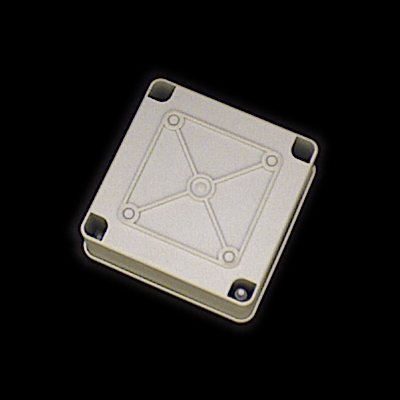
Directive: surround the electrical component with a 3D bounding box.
[{"bbox_3d":[0.000,0.000,0.627,0.109,0.109,0.056,23,-15,7],"label":"electrical component"}]
